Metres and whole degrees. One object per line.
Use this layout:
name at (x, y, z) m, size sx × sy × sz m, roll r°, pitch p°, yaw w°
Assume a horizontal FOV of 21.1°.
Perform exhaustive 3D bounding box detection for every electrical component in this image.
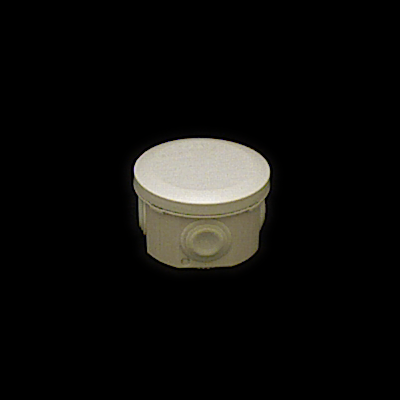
electrical component at (0.000, 0.000, 0.637) m, size 0.080 × 0.051 × 0.079 m, roll 1°, pitch 31°, yaw 0°
